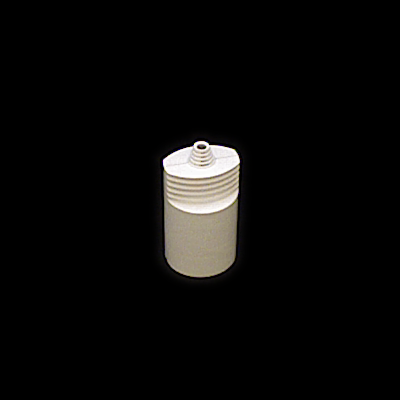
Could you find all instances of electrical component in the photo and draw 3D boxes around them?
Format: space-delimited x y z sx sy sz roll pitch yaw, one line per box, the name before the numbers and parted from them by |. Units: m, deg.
electrical component | 0.000 0.000 0.624 0.043 0.082 0.042 1 42 0
